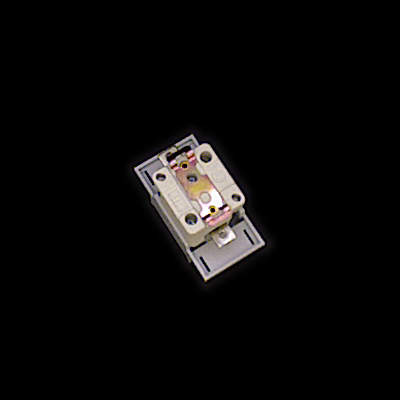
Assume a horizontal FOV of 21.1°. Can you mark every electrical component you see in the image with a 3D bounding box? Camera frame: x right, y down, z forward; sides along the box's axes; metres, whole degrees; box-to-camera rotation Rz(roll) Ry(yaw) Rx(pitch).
[{"bbox_3d":[0.000,0.000,0.625,0.042,0.081,0.063,-32,-14,-9],"label":"electrical component"}]
